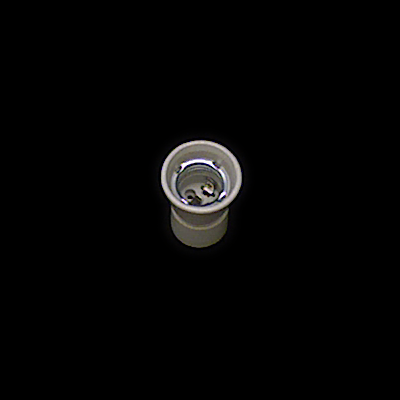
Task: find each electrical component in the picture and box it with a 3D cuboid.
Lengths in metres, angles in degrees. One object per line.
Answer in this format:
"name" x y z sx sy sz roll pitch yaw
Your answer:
"electrical component" 0.000 0.000 0.624 0.044 0.044 0.065 0 -27 -1
